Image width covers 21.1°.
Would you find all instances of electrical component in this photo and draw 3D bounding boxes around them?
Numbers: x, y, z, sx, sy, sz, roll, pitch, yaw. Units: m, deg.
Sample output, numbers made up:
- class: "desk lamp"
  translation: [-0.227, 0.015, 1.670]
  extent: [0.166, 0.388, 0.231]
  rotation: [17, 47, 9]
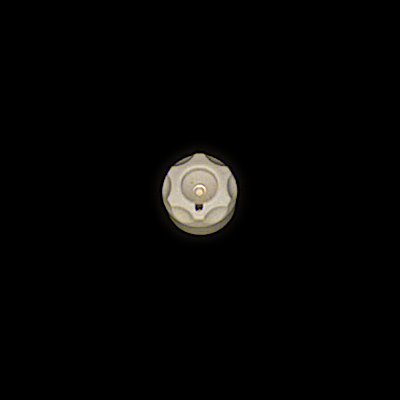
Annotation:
- class: "electrical component"
  translation: [0.000, 0.000, 0.634]
  extent: [0.043, 0.043, 0.061]
  rotation: [0, -17, 1]
